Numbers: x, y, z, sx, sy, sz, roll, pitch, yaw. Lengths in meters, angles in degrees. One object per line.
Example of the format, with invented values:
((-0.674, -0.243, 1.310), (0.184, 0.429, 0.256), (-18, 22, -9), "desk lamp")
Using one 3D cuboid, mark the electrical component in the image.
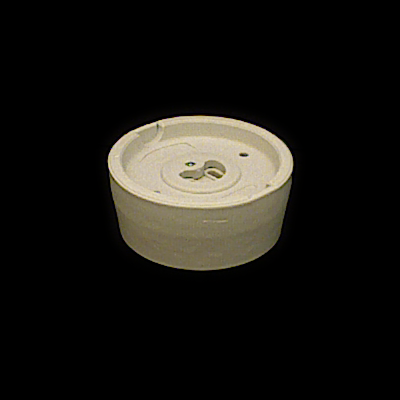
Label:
((0.000, 0.000, 0.642), (0.108, 0.061, 0.106), (1, 32, 0), "electrical component")
